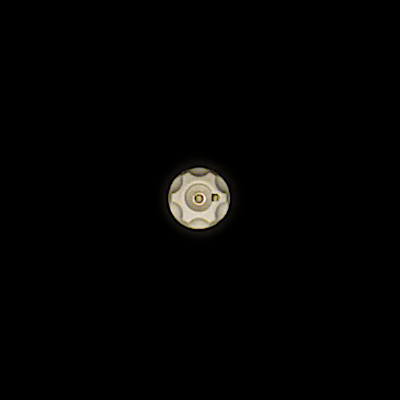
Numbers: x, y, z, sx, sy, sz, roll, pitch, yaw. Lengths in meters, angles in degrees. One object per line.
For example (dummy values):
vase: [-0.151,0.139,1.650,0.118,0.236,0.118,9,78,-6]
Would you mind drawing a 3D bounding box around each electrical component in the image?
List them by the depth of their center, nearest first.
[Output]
electrical component: [0.000,0.000,0.634,0.035,0.035,0.061,0,-5,1]
